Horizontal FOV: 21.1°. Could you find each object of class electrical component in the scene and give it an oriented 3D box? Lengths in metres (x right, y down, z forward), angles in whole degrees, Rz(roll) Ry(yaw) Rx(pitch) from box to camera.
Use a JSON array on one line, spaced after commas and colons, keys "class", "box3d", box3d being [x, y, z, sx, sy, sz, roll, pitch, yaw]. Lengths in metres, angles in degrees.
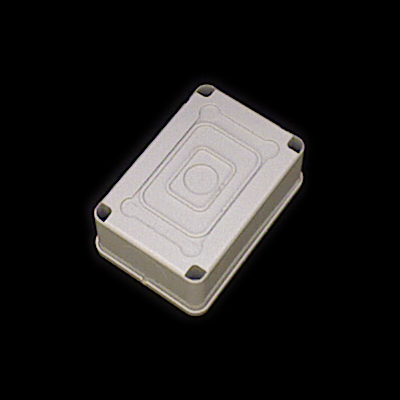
[{"class": "electrical component", "box3d": [0.000, 0.000, 0.628, 0.078, 0.113, 0.057, 33, -22, 15]}]
